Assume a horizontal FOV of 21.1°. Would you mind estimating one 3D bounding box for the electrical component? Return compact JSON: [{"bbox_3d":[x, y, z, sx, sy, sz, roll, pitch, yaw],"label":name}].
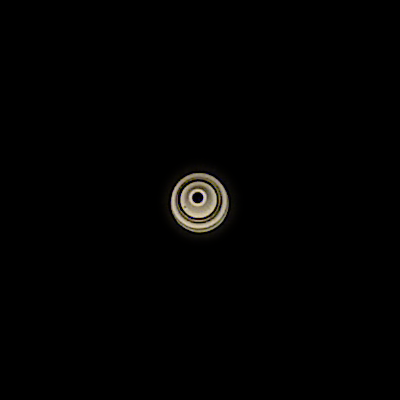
[{"bbox_3d":[0.000,0.000,0.638,0.035,0.035,0.061,0,-4,1],"label":"electrical component"}]
